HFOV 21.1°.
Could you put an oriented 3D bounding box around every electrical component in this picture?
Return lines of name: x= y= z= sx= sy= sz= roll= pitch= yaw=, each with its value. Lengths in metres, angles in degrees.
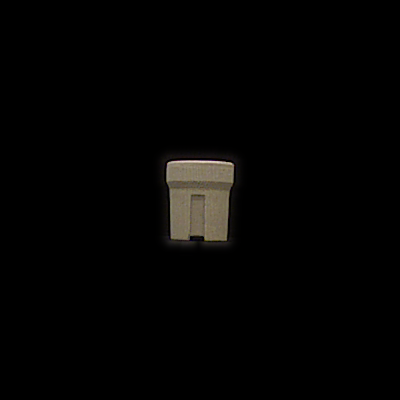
electrical component: x=0.000 y=0.000 z=0.651 sx=0.040 sy=0.046 sz=0.040 roll=1 pitch=1 yaw=0
